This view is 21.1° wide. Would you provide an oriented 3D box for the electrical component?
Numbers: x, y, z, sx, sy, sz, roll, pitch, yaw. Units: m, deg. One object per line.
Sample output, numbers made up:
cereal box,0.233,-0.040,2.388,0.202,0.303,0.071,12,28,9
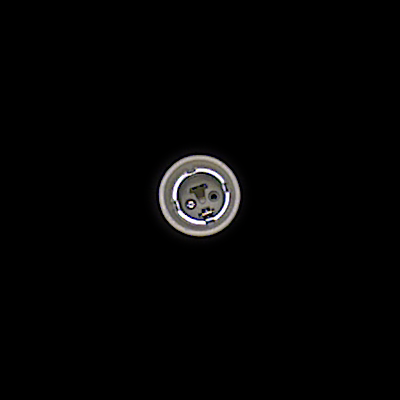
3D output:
electrical component,0.000,0.000,0.624,0.044,0.044,0.065,0,-5,2
